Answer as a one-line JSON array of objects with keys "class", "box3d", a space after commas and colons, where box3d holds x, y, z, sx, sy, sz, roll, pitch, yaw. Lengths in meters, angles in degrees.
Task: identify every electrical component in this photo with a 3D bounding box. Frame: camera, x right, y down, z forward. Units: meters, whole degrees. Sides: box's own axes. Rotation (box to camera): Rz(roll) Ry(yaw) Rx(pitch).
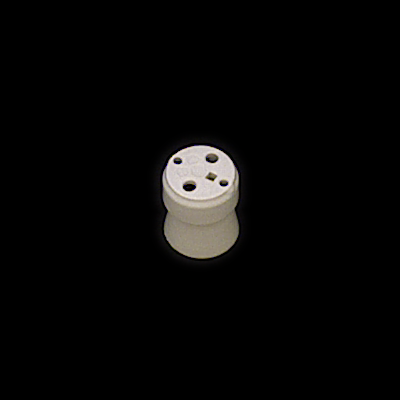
[{"class": "electrical component", "box3d": [0.000, 0.000, 0.629, 0.045, 0.044, 0.055, 0, -37, 0]}]
